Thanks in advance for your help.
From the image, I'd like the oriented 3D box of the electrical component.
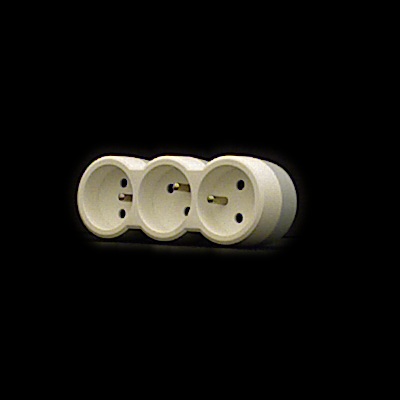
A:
[{"bbox_3d":[0.000,0.000,0.659,0.137,0.052,0.074,2,0,35],"label":"electrical component"}]
